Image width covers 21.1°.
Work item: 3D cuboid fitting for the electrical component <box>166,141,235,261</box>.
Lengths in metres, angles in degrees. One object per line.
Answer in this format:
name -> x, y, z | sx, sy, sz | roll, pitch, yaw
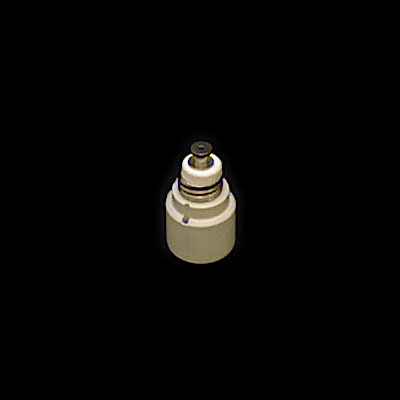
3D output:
electrical component -> 0.000, 0.000, 0.626 | 0.040, 0.079, 0.039 | 0, 43, 0
